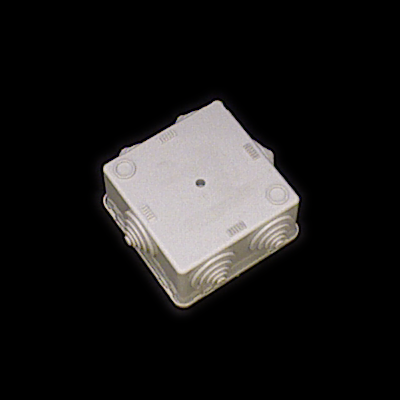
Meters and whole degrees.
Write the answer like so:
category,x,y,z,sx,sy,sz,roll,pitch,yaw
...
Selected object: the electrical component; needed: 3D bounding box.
category,x,y,z,sx,sy,sz,roll,pitch,yaw
electrical component,0.000,0.000,0.632,0.100,0.099,0.048,-31,-22,-15
